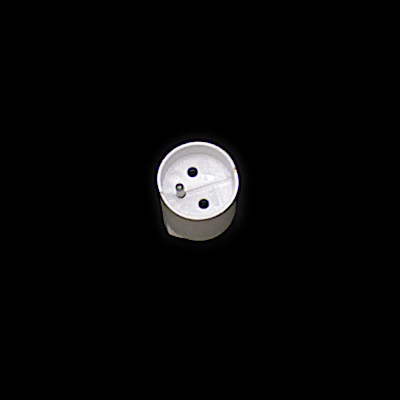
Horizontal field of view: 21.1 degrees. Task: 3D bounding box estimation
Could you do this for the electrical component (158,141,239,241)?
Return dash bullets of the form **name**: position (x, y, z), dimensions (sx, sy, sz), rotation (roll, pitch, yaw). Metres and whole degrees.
- **electrical component**: position (0.000, 0.000, 0.614), dimensions (0.043, 0.043, 0.080), rotation (0, -17, 1)
